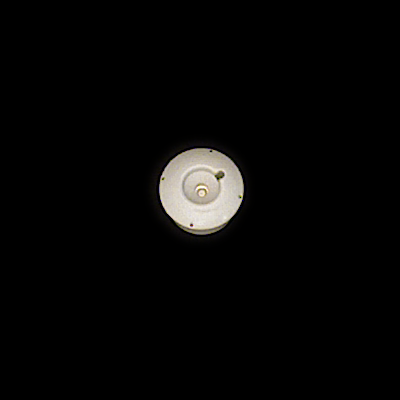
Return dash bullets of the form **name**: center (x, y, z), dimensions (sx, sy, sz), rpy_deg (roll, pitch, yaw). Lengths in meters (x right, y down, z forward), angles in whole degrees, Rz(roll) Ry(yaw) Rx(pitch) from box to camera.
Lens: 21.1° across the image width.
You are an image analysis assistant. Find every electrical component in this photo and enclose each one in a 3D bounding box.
- **electrical component**: center (0.000, 0.000, 0.634), dimensions (0.048, 0.048, 0.062), rpy_deg (0, -16, 1)
